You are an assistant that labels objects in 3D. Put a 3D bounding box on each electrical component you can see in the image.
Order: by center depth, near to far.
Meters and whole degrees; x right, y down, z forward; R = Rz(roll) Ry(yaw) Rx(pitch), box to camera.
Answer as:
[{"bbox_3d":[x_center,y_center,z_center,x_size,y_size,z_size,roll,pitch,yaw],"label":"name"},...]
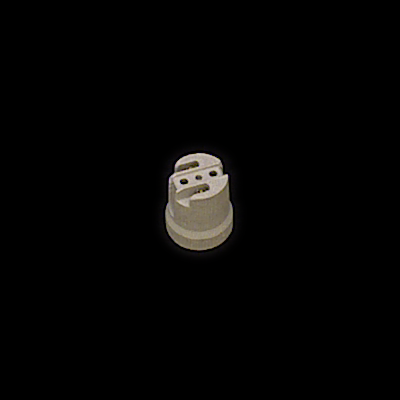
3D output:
[{"bbox_3d":[0.000,0.000,0.634,0.040,0.040,0.046,0,-38,-1],"label":"electrical component"}]
